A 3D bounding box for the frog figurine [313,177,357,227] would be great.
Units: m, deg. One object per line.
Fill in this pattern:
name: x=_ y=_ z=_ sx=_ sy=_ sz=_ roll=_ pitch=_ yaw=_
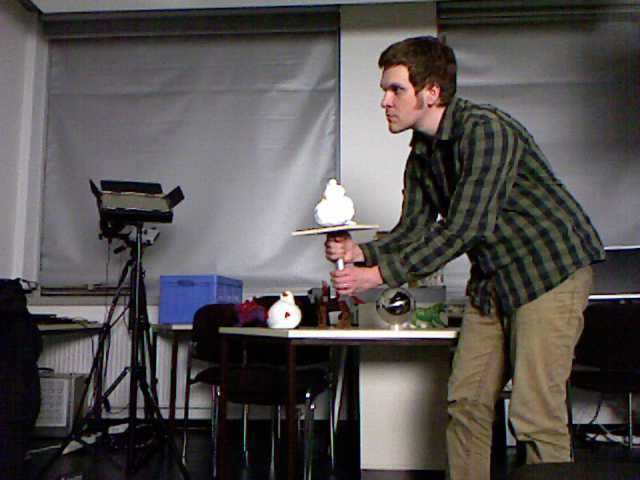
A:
frog figurine: x=0.044 y=-0.116 z=1.583 sx=0.137 sy=0.160 sz=0.123 roll=-4 pitch=0 yaw=42
